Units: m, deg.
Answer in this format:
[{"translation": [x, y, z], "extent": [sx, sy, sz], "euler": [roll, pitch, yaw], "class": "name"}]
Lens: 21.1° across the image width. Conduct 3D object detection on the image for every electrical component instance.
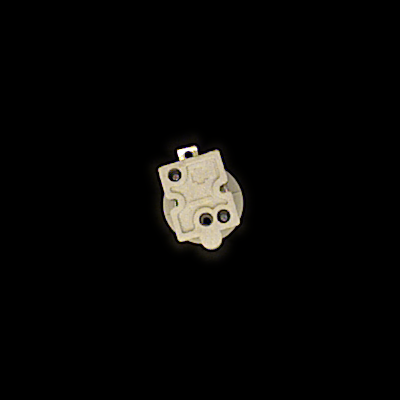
[{"translation": [0.000, 0.000, 0.639], "extent": [0.048, 0.066, 0.055], "euler": [-16, -6, 0], "class": "electrical component"}]
